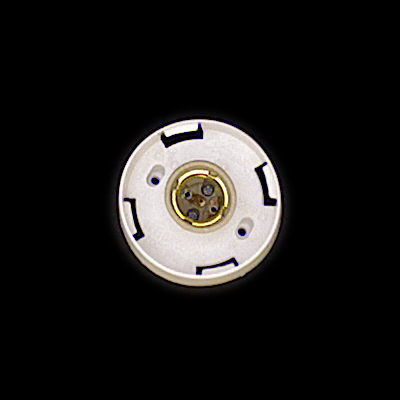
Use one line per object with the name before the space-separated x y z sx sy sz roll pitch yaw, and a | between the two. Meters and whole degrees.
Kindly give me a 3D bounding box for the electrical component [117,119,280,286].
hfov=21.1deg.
electrical component | 0.000 0.000 0.625 0.099 0.099 0.064 0 -7 0
